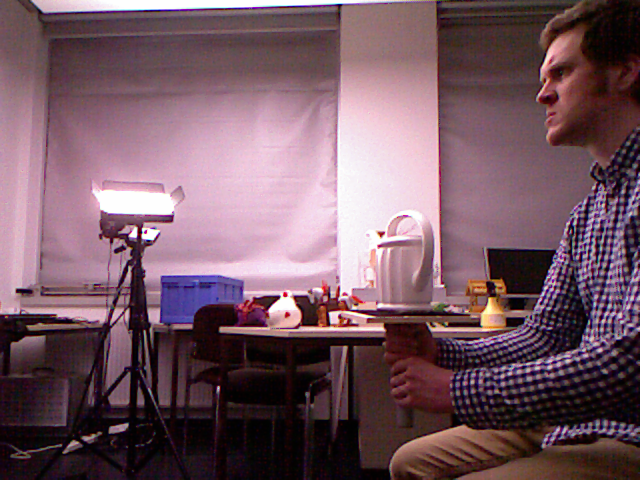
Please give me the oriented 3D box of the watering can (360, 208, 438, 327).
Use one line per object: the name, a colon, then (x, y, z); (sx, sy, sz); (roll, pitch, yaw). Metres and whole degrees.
watering can: (0.149, 0.053, 1.028); (0.104, 0.225, 0.346); (1, -4, -13)
